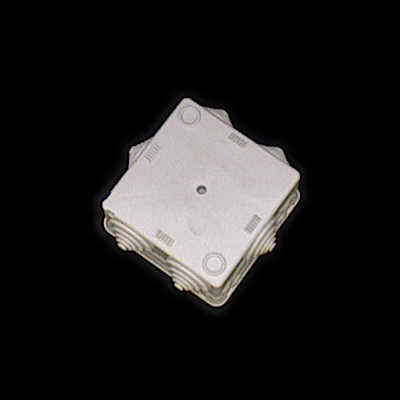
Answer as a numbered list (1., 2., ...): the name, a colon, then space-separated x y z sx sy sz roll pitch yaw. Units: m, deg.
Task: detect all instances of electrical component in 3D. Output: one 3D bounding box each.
1. electrical component: 0.000 0.000 0.631 0.099 0.100 0.048 35 -14 10
